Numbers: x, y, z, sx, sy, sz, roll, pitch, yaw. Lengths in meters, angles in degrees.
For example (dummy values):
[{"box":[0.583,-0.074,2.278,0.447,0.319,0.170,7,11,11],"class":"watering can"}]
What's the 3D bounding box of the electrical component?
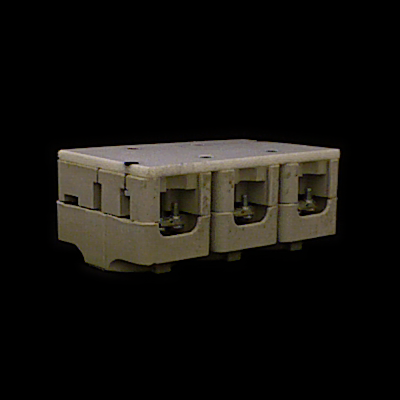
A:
[{"box":[0.000,0.000,0.647,0.150,0.062,0.089,-7,13,-40],"class":"electrical component"}]
